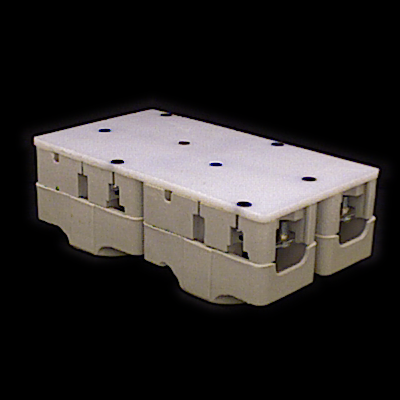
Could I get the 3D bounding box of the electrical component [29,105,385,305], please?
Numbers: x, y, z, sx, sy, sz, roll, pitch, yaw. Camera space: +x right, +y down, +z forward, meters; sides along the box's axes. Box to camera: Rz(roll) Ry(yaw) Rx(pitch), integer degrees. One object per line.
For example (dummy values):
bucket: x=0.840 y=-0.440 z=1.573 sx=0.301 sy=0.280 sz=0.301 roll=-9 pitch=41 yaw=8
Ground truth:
electrical component: x=0.000 y=0.000 z=0.638 sx=0.184 sy=0.061 sz=0.105 roll=19 pitch=27 yaw=39
